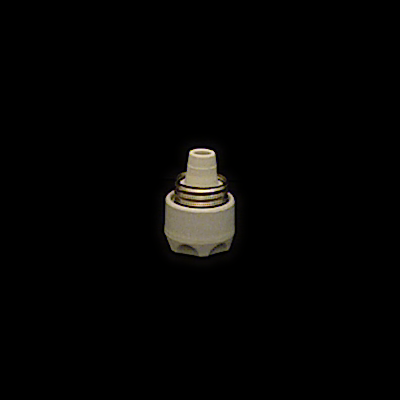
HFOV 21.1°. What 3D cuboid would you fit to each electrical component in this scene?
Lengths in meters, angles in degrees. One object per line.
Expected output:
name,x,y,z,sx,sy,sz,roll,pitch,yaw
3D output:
electrical component,0.000,0.000,0.646,0.043,0.063,0.043,2,21,0
